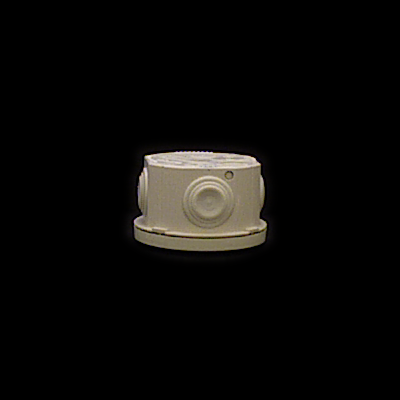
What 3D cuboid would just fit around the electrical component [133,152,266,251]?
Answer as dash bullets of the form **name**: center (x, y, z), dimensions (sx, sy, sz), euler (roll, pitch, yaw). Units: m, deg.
- **electrical component**: center (0.000, 0.000, 0.647), dimensions (0.080, 0.051, 0.079), euler (1, 10, 0)
